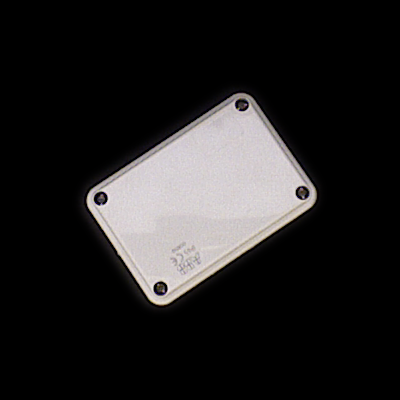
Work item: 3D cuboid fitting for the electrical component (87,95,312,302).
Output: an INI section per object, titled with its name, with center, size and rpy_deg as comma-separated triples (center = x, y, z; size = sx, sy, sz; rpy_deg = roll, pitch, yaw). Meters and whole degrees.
[electrical component]
center = 0.000, 0.000, 0.627
size = 0.113, 0.078, 0.057
rpy_deg = -34, -6, -4
